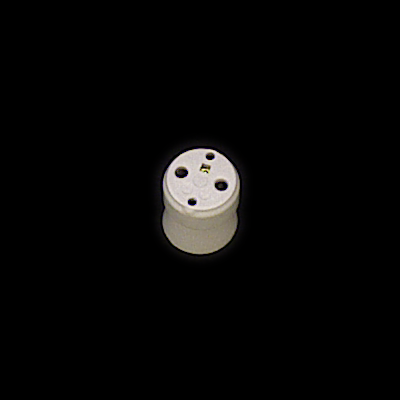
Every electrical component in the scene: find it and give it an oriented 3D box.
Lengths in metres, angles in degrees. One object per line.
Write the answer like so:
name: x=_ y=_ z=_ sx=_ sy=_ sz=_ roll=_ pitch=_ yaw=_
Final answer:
electrical component: x=0.000 y=0.000 z=0.629 sx=0.045 sy=0.045 sz=0.055 roll=0 pitch=-26 yaw=0
